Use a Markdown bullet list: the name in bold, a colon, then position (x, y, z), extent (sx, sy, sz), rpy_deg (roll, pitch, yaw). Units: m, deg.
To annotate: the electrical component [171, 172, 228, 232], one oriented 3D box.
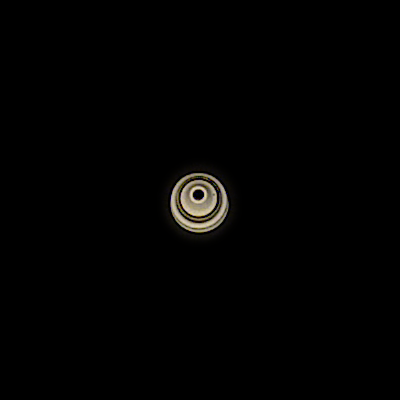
- **electrical component**: position (0.000, 0.000, 0.637), extent (0.035, 0.035, 0.061), rpy_deg (0, -7, 0)
